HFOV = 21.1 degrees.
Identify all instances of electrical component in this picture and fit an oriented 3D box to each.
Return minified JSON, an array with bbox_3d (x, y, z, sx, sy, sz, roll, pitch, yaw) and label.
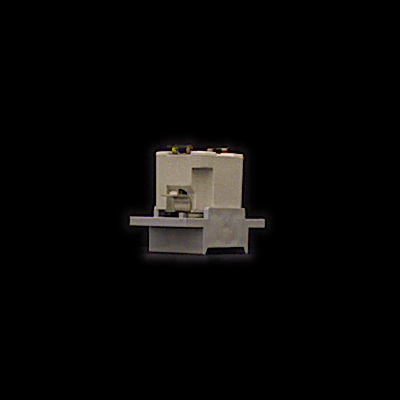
[{"bbox_3d":[0.000,0.000,0.649,0.042,0.064,0.081,2,1,36],"label":"electrical component"}]
